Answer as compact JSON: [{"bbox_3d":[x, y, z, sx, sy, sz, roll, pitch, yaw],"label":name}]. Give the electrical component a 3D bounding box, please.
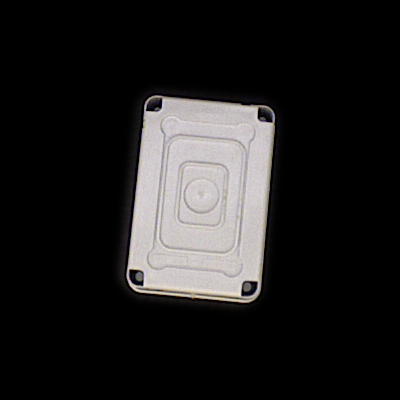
[{"bbox_3d":[0.000,0.000,0.628,0.078,0.113,0.057,6,-6,1],"label":"electrical component"}]
